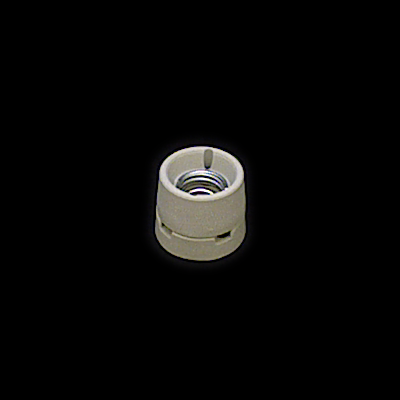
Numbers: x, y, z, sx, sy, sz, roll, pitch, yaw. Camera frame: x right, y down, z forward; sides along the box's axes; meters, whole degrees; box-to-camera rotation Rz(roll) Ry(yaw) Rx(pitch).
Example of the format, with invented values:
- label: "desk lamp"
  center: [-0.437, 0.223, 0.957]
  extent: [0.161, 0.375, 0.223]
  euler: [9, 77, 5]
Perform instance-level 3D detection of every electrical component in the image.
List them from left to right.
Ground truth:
- label: "electrical component"
  center: [0.000, 0.000, 0.637]
  extent: [0.055, 0.047, 0.055]
  euler: [1, 41, -1]
